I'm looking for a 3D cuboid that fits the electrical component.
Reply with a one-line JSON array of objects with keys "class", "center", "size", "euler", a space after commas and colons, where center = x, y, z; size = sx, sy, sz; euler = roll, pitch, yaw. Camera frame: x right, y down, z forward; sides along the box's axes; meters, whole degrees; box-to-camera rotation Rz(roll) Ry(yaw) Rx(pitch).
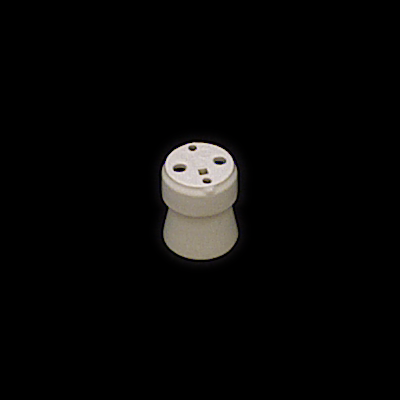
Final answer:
[{"class": "electrical component", "center": [0.000, 0.000, 0.632], "size": [0.045, 0.055, 0.044], "euler": [0, 42, 0]}]
